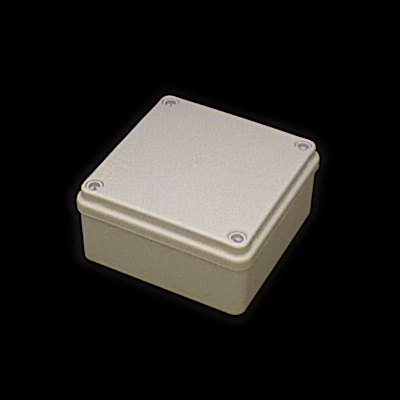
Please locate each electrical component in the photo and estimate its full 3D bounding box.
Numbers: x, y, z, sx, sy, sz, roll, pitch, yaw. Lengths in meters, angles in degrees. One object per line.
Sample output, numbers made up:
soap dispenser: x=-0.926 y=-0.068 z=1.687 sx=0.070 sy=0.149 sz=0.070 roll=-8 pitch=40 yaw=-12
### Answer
electrical component: x=0.000 y=0.000 z=0.633 sx=0.108 sy=0.056 sz=0.108 roll=20 pitch=45 yaw=19
